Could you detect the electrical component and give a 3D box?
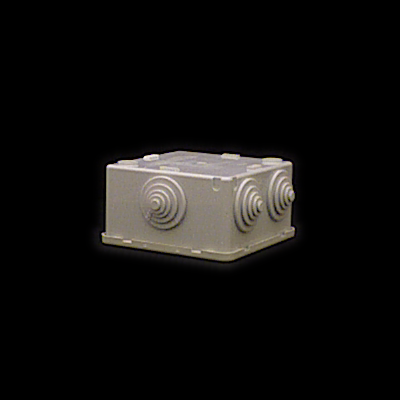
[{"bbox_3d":[0.000,0.000,0.644,0.099,0.049,0.099,7,12,29],"label":"electrical component"}]
